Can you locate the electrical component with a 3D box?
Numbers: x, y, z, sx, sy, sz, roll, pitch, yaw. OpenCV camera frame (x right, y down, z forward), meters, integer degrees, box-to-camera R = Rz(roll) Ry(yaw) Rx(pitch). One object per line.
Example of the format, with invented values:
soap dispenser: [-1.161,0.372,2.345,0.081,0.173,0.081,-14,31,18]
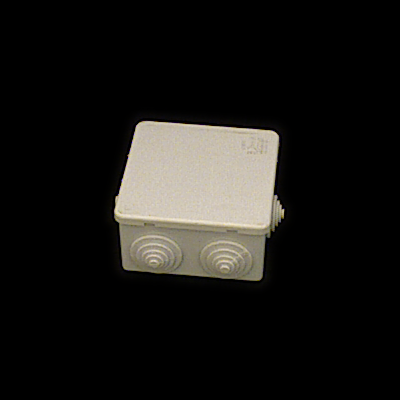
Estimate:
electrical component: [0.000,0.000,0.643,0.099,0.049,0.099,5,43,4]
